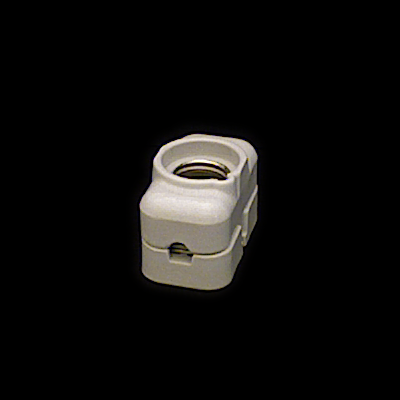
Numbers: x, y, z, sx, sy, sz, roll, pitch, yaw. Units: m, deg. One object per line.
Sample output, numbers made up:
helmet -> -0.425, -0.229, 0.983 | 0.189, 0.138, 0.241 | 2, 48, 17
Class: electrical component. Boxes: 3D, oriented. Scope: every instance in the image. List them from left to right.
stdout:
electrical component -> 0.000, 0.000, 0.641 | 0.053, 0.060, 0.094 | 8, 33, 12
